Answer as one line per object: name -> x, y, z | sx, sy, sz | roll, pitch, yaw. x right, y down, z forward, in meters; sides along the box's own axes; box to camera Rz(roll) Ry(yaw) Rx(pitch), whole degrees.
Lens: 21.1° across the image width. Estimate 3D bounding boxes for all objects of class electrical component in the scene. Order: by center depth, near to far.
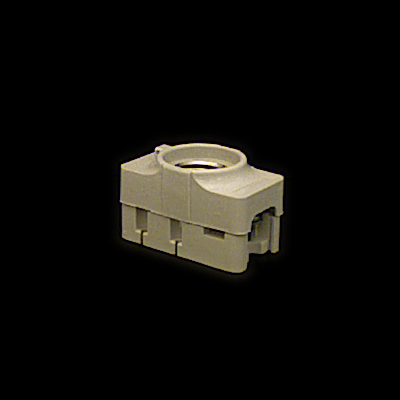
electrical component -> 0.000, 0.000, 0.647 | 0.088, 0.056, 0.050 | 15, 26, 31
